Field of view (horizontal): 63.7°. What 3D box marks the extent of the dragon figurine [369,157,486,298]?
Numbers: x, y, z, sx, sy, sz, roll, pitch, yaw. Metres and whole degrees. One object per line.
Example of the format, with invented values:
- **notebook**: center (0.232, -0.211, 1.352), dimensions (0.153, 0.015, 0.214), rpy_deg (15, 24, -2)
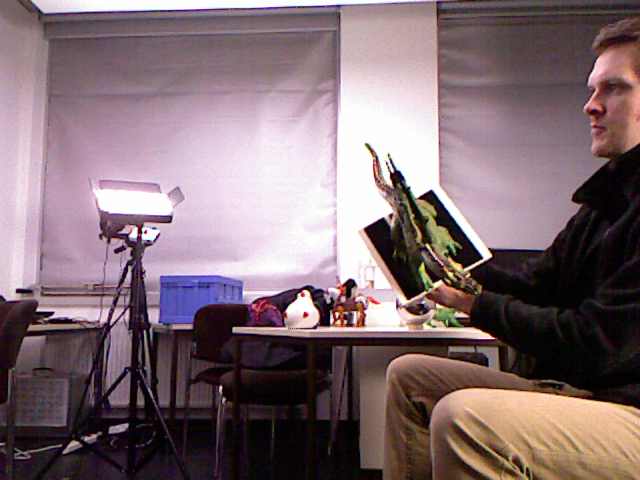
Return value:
- **dragon figurine**: center (0.172, -0.051, 0.977), dimensions (0.122, 0.418, 0.240), rpy_deg (-32, -26, 1)
